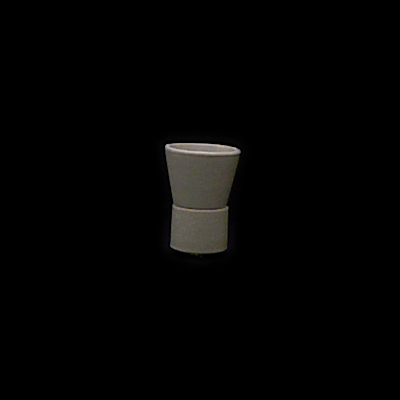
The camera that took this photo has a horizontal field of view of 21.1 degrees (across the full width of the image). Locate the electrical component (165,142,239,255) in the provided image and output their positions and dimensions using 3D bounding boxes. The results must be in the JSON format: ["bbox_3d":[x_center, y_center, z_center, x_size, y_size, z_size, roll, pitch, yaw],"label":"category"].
[{"bbox_3d":[0.000,0.000,0.645,0.044,0.066,0.044,2,11,0],"label":"electrical component"}]
